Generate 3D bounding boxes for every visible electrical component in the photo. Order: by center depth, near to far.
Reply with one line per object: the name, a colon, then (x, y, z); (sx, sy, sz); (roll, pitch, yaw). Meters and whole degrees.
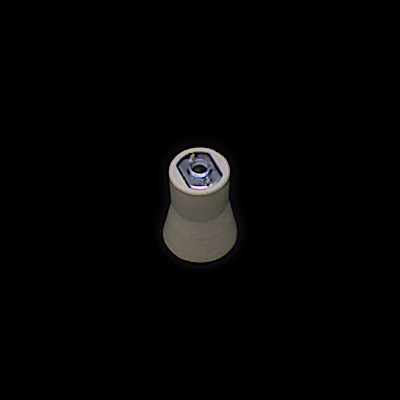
electrical component: (0.000, 0.000, 0.626); (0.044, 0.044, 0.065); (0, -37, 1)
